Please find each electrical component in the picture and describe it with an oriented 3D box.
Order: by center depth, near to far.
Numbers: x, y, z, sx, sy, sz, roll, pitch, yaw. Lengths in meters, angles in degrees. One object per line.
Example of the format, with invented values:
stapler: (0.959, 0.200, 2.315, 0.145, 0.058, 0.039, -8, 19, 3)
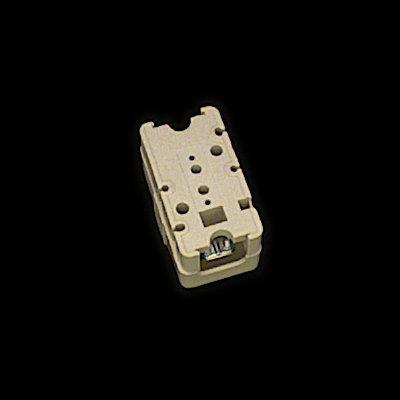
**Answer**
electrical component: (0.000, 0.000, 0.636, 0.050, 0.089, 0.055, -16, -25, -8)
